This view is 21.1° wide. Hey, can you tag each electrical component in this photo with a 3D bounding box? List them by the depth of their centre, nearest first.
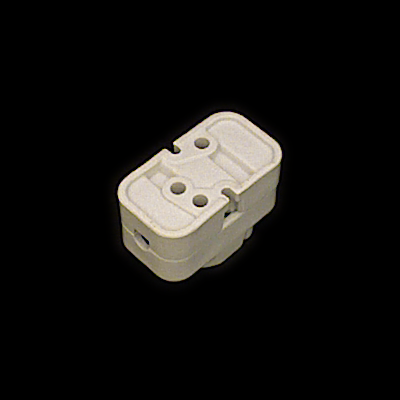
[{"bbox_3d":[0.000,0.000,0.636,0.095,0.059,0.053,-37,61,-25],"label":"electrical component"}]
